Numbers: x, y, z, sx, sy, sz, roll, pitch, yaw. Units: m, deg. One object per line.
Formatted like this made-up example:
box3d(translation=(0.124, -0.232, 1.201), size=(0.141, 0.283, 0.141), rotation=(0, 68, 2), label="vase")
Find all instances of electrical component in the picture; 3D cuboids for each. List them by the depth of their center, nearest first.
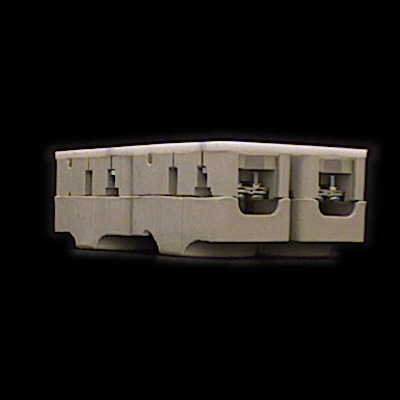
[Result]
box3d(translation=(0.000, 0.000, 0.650), size=(0.106, 0.060, 0.186), rotation=(1, 0, -35), label="electrical component")
